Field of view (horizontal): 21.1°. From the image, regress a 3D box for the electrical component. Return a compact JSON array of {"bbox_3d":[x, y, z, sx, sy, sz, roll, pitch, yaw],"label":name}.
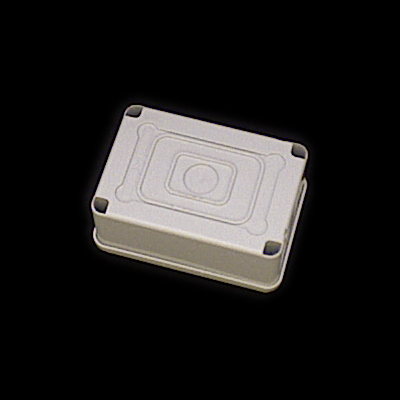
[{"bbox_3d":[0.000,0.000,0.628,0.113,0.078,0.057,14,-26,7],"label":"electrical component"}]
